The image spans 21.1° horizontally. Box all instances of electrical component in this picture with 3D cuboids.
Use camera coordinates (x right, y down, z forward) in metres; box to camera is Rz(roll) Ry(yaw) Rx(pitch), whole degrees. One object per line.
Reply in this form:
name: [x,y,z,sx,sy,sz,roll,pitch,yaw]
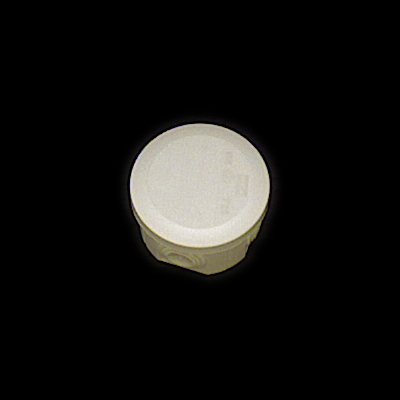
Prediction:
electrical component: [0.000,0.000,0.629,0.080,0.080,0.050,0,-27,0]
